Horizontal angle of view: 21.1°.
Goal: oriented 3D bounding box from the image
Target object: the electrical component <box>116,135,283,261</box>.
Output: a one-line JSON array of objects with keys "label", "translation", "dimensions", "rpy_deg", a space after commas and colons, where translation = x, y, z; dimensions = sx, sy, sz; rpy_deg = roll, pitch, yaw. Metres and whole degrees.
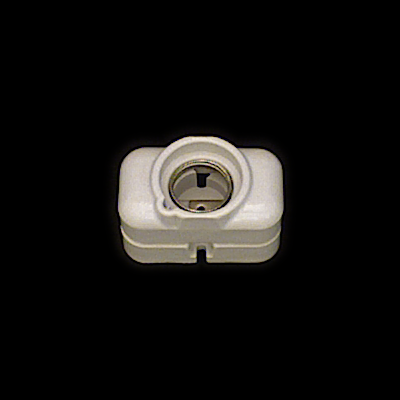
[{"label": "electrical component", "translation": [0.000, 0.000, 0.633], "dimensions": [0.095, 0.054, 0.059], "rpy_deg": [0, -27, 0]}]
